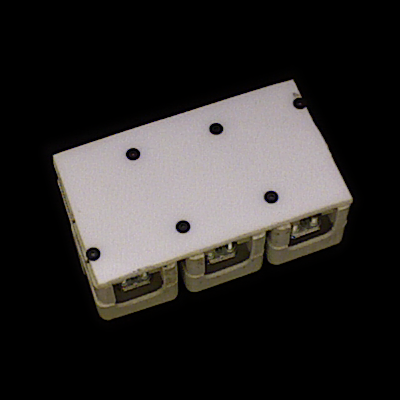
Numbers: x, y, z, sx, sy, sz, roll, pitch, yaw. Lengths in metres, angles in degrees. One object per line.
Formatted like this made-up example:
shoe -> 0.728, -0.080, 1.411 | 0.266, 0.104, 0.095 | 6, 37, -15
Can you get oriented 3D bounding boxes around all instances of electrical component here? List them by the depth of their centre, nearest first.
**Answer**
electrical component -> 0.000, 0.000, 0.630 | 0.150, 0.089, 0.062 | -18, -26, -9
